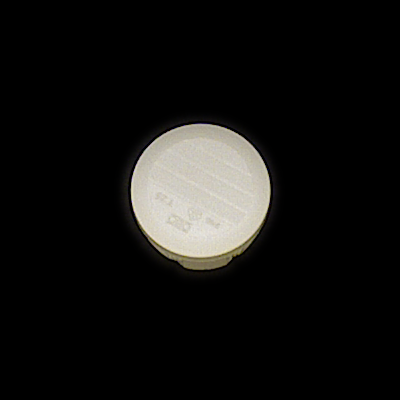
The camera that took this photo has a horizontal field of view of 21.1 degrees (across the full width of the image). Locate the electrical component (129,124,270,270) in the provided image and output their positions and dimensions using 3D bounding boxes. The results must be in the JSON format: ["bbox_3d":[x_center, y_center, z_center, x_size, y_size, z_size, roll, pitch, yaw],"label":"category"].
[{"bbox_3d":[0.000,0.000,0.630,0.080,0.080,0.050,0,-17,0],"label":"electrical component"}]
